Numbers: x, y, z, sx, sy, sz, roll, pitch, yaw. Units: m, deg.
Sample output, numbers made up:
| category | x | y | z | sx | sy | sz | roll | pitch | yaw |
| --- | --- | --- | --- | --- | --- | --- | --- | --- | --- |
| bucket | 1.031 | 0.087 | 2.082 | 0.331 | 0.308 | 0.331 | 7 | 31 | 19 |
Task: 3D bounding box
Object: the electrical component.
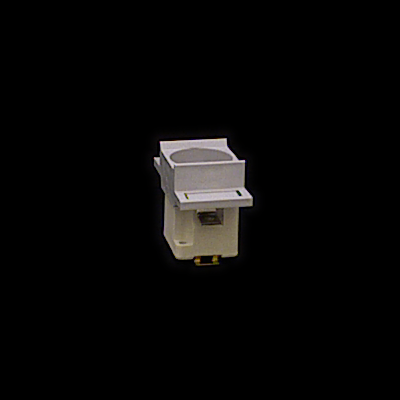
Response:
| category | x | y | z | sx | sy | sz | roll | pitch | yaw |
| --- | --- | --- | --- | --- | --- | --- | --- | --- | --- |
| electrical component | 0.000 | 0.000 | 0.640 | 0.042 | 0.064 | 0.079 | -5 | 22 | -12 |
